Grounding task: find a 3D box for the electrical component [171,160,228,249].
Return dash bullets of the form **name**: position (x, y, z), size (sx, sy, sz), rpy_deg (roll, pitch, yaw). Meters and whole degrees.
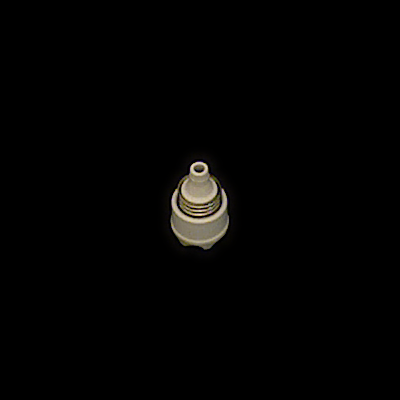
- **electrical component**: position (0.000, 0.000, 0.639), size (0.035, 0.035, 0.062), rpy_deg (0, -39, 0)
